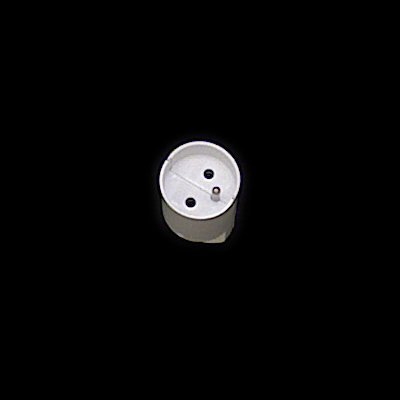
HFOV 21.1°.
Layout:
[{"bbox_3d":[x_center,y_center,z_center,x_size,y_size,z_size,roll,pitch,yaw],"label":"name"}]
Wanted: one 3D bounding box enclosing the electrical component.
[{"bbox_3d":[0.000,0.000,0.616,0.043,0.043,0.080,0,-16,0],"label":"electrical component"}]
